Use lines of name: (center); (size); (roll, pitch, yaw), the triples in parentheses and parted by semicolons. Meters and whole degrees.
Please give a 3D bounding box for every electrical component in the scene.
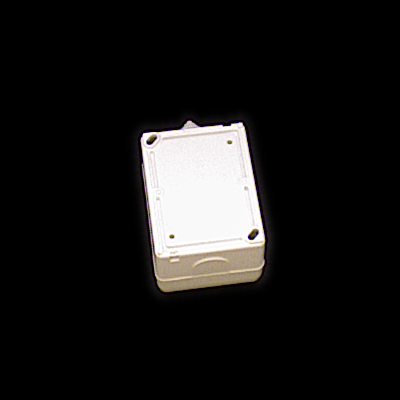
electrical component: (0.000, 0.000, 0.628); (0.062, 0.096, 0.061); (-7, -28, -4)
